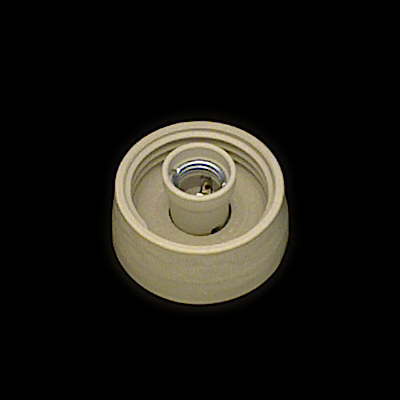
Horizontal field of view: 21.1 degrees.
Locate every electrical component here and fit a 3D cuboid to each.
[{"bbox_3d":[0.000,0.000,0.634,0.108,0.107,0.060,0,-37,-1],"label":"electrical component"}]
